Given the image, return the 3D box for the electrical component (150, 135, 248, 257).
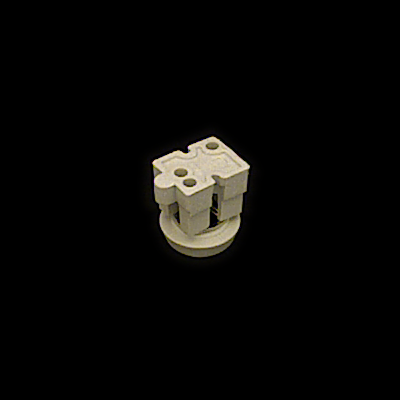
[{"bbox_3d":[0.000,0.000,0.639,0.067,0.056,0.048,-25,47,-26],"label":"electrical component"}]
